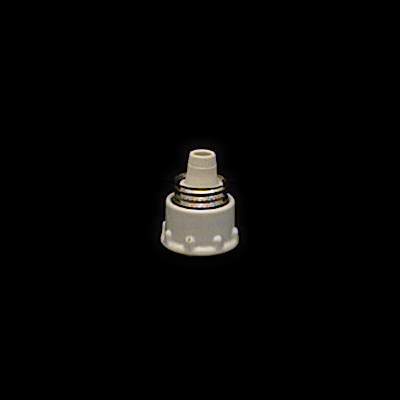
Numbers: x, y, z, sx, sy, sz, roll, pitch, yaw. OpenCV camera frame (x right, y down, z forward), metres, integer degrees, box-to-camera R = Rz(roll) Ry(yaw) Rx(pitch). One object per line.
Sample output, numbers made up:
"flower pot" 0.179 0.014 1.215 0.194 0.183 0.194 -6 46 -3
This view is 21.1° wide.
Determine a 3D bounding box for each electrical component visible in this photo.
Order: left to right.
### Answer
"electrical component" 0.000 0.000 0.647 0.048 0.063 0.047 2 22 0
